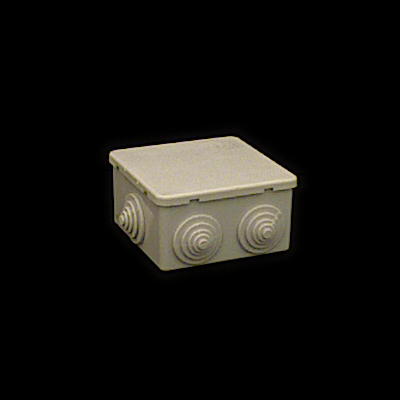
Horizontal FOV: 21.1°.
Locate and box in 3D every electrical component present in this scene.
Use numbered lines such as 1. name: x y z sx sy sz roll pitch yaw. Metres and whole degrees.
1. electrical component: 0.000 0.000 0.650 0.100 0.049 0.098 -8 24 -23
